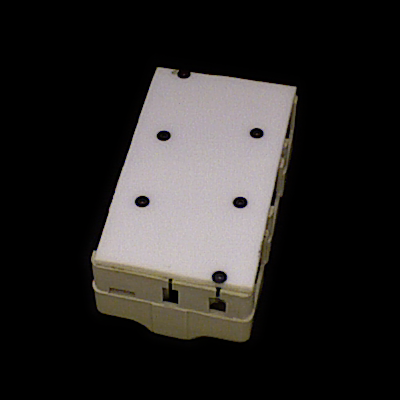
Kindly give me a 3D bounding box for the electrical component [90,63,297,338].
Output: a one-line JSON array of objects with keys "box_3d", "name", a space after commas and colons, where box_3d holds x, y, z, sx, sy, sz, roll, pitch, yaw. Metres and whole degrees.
[{"box_3d": [0.000, 0.000, 0.631, 0.089, 0.148, 0.062, 10, -37, 7], "name": "electrical component"}]
